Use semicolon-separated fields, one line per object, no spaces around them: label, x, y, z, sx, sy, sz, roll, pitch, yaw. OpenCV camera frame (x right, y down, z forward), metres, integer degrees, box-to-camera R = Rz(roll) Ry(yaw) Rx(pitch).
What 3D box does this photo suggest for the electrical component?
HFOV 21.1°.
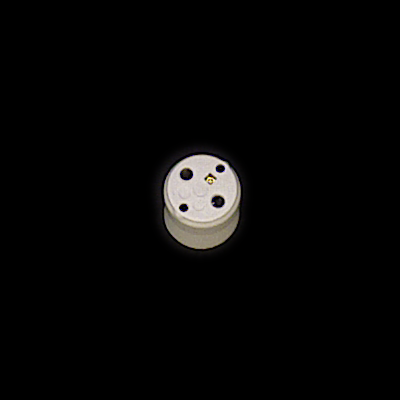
electrical component;0.000;0.000;0.628;0.045;0.045;0.055;0;-16;0
